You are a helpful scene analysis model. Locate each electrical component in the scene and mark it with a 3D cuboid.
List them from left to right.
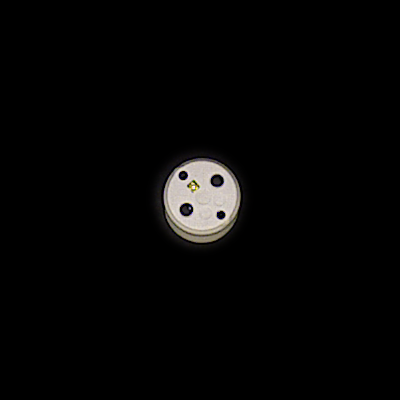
[{"bbox_3d":[0.000,0.000,0.629,0.045,0.045,0.055,0,-6,0],"label":"electrical component"}]
